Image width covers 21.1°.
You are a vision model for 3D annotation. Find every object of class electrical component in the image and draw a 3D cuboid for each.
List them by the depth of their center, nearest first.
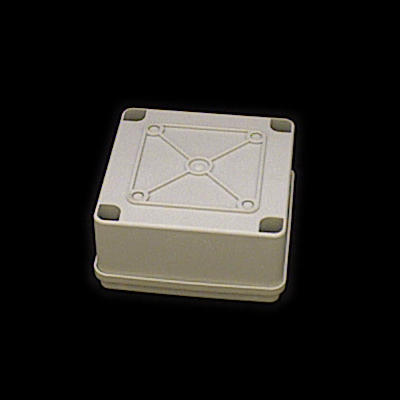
[{"bbox_3d":[0.000,0.000,0.630,0.108,0.056,0.108,4,42,5],"label":"electrical component"}]
